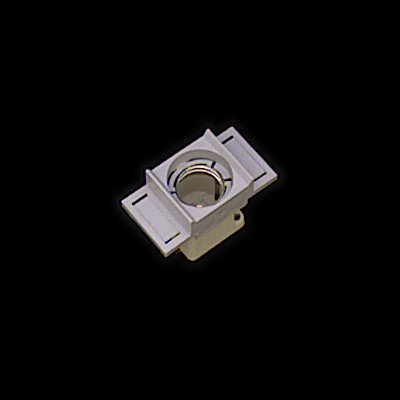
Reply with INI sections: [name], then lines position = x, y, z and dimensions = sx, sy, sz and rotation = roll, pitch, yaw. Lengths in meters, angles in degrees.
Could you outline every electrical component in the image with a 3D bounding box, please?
[electrical component]
position = 0.000, 0.000, 0.623
dimensions = 0.081, 0.042, 0.063
rotation = -34, -21, -17
